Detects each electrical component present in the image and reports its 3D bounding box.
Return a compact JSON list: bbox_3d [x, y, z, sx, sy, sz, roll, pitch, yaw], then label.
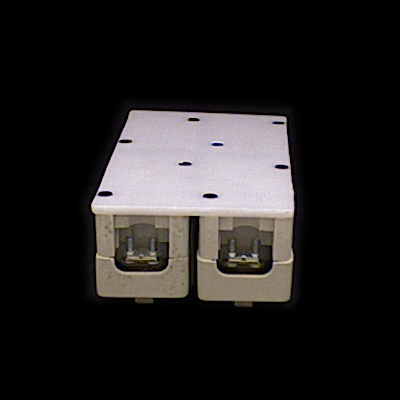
[{"bbox_3d":[0.000,0.000,0.638,0.105,0.061,0.184,2,20,2],"label":"electrical component"}]
